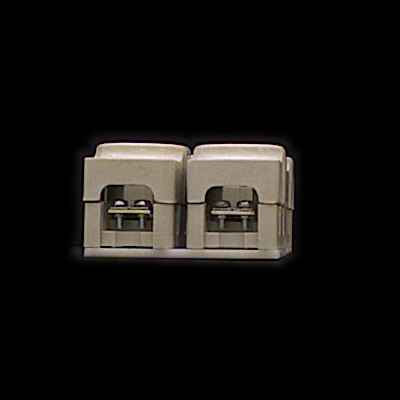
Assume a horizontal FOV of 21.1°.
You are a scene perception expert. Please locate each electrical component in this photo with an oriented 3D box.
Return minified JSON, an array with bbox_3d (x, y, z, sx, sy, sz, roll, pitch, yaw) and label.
[{"bbox_3d":[0.000,0.000,0.650,0.105,0.060,0.186,1,-1,7],"label":"electrical component"}]
